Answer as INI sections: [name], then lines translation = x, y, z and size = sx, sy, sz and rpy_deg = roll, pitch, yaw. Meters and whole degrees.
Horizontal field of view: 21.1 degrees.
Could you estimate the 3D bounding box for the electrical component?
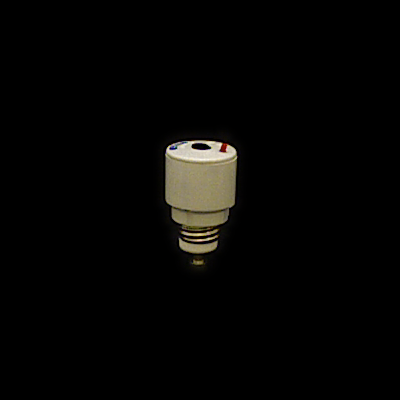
[electrical component]
translation = 0.000, 0.000, 0.634
size = 0.040, 0.079, 0.039
rpy_deg = 1, 21, -1
